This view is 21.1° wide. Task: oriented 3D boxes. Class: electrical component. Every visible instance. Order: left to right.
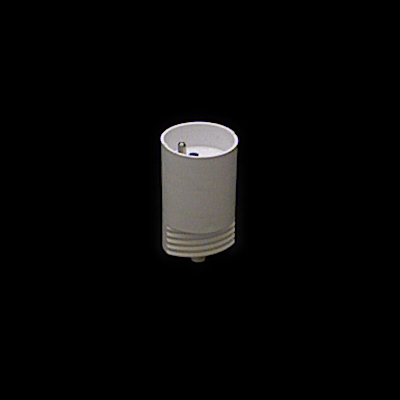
[{"bbox_3d":[0.000,0.000,0.626,0.043,0.082,0.042,0,31,0],"label":"electrical component"}]
